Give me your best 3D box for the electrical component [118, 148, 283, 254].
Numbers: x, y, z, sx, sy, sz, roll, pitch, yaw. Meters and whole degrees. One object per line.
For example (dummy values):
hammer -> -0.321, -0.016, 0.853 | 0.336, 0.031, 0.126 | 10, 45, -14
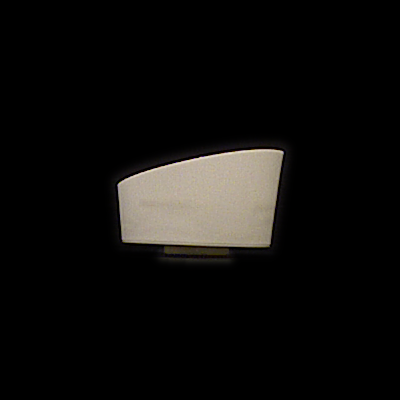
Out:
electrical component -> 0.000, 0.000, 0.650 | 0.099, 0.064, 0.099 | 2, 0, 0
